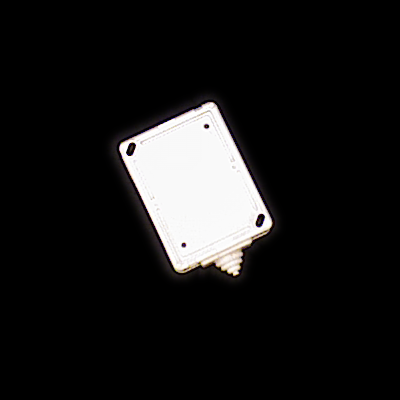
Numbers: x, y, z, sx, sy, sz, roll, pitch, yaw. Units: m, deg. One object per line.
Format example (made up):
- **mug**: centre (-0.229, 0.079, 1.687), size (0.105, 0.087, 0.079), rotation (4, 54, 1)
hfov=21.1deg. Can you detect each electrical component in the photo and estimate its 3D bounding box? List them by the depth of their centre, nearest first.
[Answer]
- **electrical component**: centre (0.000, 0.000, 0.629), size (0.062, 0.096, 0.061), rotation (-25, -6, -2)
